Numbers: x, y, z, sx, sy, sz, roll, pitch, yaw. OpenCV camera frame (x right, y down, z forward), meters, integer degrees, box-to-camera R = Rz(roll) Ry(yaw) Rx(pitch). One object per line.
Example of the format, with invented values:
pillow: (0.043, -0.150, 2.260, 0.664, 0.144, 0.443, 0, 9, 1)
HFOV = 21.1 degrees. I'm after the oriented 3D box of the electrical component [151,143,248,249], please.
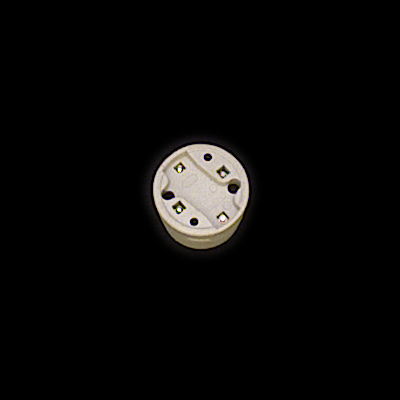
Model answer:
electrical component: (0.000, 0.000, 0.634, 0.055, 0.056, 0.047, 0, -17, 1)
